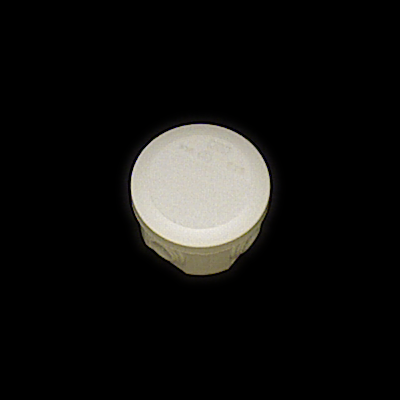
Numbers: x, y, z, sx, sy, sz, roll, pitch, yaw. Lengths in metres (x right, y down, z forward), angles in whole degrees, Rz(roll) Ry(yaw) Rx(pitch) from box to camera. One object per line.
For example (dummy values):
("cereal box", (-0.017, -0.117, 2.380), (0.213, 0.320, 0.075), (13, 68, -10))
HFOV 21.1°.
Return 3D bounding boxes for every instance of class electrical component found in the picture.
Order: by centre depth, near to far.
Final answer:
("electrical component", (0.000, 0.000, 0.629), (0.080, 0.080, 0.050), (0, -27, 0))
